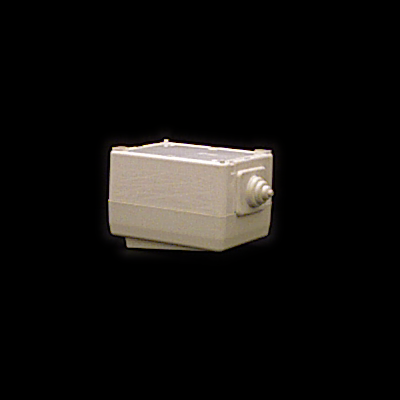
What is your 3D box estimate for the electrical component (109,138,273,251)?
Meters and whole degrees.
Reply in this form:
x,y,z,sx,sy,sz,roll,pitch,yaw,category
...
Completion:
x,y,z,sx,sy,sz,roll,pitch,yaw,category
0.000,0.000,0.642,0.096,0.061,0.061,8,13,30,electrical component
